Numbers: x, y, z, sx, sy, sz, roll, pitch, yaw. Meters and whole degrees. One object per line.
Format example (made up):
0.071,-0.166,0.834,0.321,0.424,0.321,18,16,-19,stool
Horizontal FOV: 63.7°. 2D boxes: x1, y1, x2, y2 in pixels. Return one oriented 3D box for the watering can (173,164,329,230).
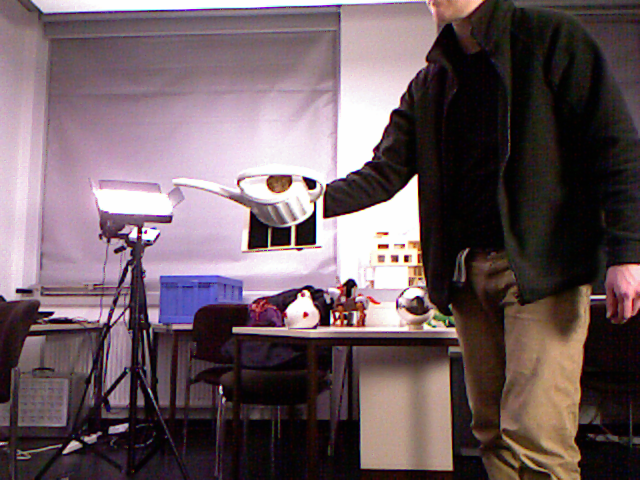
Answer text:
-0.147,-0.108,1.215,0.348,0.106,0.220,-3,-26,9,watering can
